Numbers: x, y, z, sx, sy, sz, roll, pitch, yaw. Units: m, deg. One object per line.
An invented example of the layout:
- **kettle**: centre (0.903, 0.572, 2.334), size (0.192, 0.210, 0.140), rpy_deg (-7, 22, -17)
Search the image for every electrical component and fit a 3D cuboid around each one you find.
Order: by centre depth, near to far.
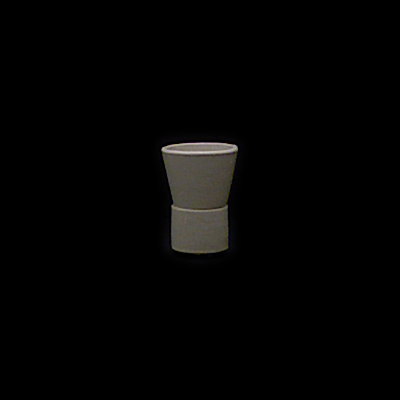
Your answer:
- **electrical component**: centre (0.000, 0.000, 0.642), size (0.044, 0.066, 0.044), rpy_deg (1, 12, 0)
